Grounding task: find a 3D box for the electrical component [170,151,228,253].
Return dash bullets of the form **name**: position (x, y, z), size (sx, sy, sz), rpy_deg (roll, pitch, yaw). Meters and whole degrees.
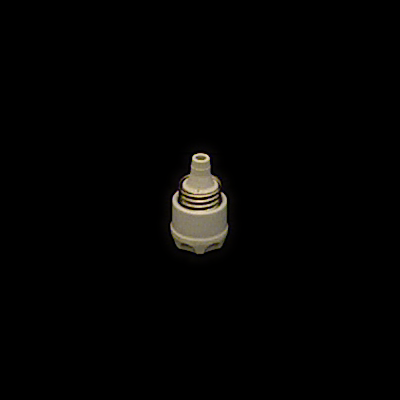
- **electrical component**: position (0.000, 0.000, 0.648), size (0.035, 0.062, 0.034), rpy_deg (1, 34, -1)
